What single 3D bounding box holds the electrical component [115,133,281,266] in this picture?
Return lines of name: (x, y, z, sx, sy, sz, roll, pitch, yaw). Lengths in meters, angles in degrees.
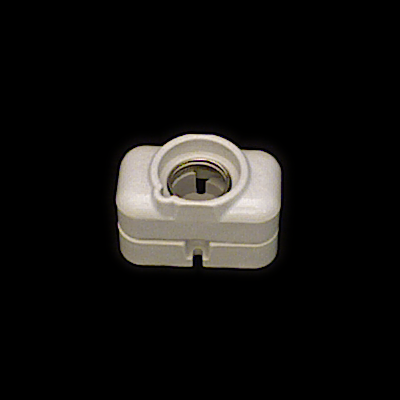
electrical component: (0.000, 0.000, 0.634, 0.095, 0.053, 0.059, 2, -37, 1)
